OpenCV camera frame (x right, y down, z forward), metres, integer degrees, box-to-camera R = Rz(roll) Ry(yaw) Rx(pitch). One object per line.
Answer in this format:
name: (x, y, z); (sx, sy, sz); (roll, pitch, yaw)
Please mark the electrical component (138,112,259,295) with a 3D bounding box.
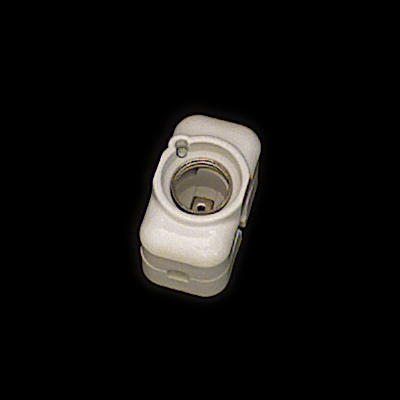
electrical component: (0.000, 0.000, 0.634); (0.053, 0.095, 0.059); (14, -26, 7)
